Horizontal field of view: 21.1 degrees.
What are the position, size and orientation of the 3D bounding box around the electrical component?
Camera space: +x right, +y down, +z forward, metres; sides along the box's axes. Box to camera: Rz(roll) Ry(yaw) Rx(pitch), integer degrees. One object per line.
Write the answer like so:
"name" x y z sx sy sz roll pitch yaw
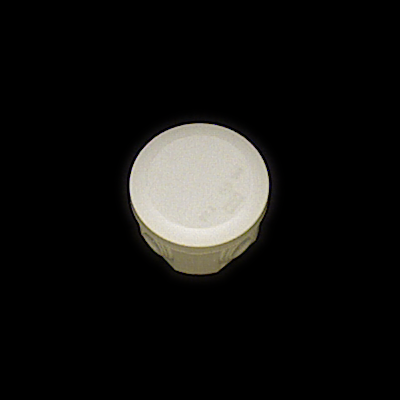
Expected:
"electrical component" 0.000 0.000 0.629 0.080 0.080 0.050 0 -27 0
